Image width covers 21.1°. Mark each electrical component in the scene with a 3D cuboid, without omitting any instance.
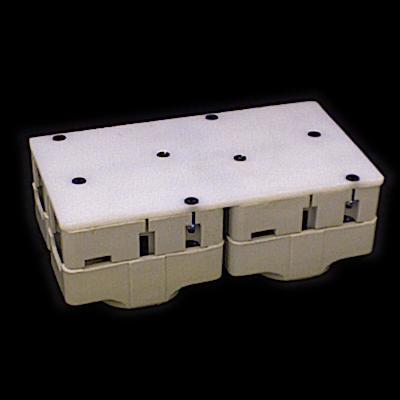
[{"bbox_3d":[0.000,0.000,0.633,0.186,0.061,0.104,-9,32,-15],"label":"electrical component"}]
